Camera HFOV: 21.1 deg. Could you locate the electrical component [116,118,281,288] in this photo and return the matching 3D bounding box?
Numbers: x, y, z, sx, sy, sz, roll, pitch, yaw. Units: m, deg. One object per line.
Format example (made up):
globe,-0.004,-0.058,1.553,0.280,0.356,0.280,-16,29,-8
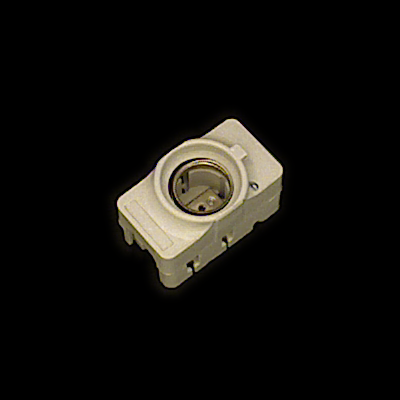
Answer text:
electrical component,0.000,0.000,0.635,0.090,0.050,0.055,-37,-21,-17
